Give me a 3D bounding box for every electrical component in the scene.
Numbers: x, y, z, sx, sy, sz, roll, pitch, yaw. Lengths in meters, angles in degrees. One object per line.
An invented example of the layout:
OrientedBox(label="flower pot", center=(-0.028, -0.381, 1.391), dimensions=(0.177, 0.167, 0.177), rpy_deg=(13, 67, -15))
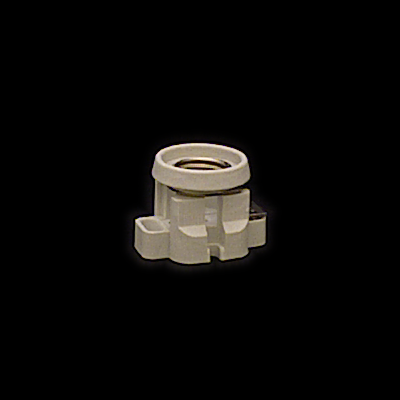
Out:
OrientedBox(label="electrical component", center=(0.000, 0.000, 0.641), dimensions=(0.078, 0.057, 0.057), rpy_deg=(-6, 22, -19))
